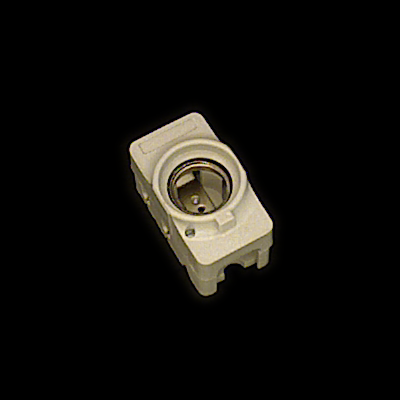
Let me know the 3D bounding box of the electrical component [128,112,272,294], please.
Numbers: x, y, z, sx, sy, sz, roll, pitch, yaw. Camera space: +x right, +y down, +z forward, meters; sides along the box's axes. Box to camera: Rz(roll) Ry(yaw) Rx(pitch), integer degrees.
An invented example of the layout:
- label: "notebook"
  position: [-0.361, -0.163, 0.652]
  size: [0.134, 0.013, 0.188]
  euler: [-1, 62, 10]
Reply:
- label: "electrical component"
  position: [0.000, 0.000, 0.635]
  size: [0.050, 0.089, 0.055]
  euler: [-28, -23, -13]
